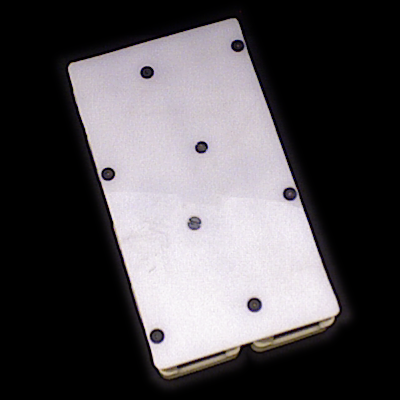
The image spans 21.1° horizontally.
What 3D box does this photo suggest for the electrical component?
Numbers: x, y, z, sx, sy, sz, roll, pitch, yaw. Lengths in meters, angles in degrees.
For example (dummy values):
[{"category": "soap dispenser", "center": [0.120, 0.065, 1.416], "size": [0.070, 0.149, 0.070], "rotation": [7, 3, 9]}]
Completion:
[{"category": "electrical component", "center": [0.000, 0.000, 0.625], "size": [0.106, 0.187, 0.060], "rotation": [-17, -16, -5]}]
